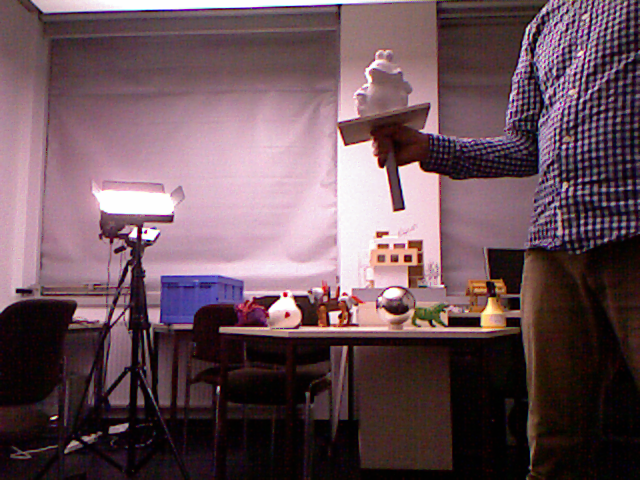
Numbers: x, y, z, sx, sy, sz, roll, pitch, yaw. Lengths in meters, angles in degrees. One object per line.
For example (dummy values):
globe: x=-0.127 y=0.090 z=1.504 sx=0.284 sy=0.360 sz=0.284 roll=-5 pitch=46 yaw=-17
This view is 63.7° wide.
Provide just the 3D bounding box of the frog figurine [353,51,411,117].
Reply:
frog figurine: x=0.143 y=-0.358 z=1.221 sx=0.137 sy=0.159 sz=0.124 roll=-10 pitch=3 yaw=21
